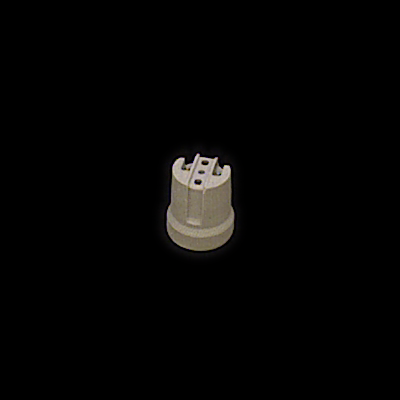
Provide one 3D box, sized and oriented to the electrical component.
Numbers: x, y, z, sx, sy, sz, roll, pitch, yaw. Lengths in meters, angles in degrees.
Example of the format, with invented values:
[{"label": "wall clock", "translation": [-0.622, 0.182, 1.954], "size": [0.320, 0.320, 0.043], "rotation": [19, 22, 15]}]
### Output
[{"label": "electrical component", "translation": [0.000, 0.000, 0.636], "size": [0.040, 0.046, 0.040], "rotation": [1, 43, -1]}]
